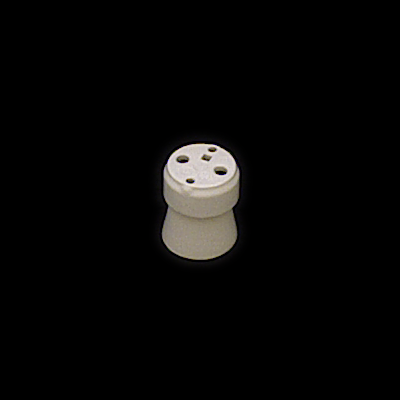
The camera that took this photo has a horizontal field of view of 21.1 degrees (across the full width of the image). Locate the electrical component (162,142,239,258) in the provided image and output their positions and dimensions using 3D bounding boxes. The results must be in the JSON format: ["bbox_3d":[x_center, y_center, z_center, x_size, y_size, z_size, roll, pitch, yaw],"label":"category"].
[{"bbox_3d":[0.000,0.000,0.632,0.045,0.055,0.044,1,43,0],"label":"electrical component"}]
